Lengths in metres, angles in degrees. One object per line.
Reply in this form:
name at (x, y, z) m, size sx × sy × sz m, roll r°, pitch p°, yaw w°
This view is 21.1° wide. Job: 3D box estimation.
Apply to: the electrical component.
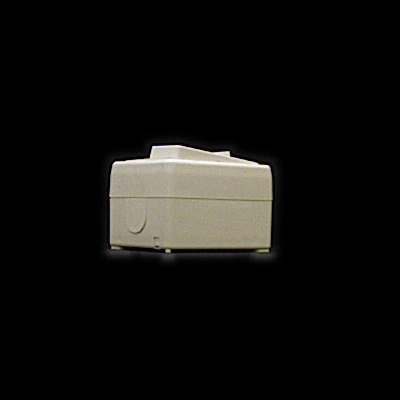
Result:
electrical component at (0.000, 0.000, 0.652) m, size 0.096 × 0.061 × 0.061 m, roll 1°, pitch 0°, yaw -38°
